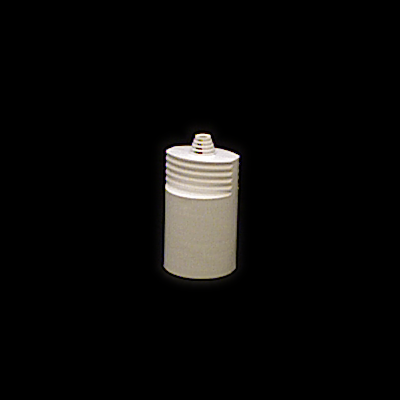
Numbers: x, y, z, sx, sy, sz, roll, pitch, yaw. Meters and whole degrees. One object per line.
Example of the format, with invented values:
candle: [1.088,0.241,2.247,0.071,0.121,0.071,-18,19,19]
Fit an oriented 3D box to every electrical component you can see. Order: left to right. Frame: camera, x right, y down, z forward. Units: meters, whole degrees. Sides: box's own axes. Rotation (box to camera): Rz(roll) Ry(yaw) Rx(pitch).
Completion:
electrical component: [0.000,0.000,0.635,0.043,0.082,0.042,1,21,0]
